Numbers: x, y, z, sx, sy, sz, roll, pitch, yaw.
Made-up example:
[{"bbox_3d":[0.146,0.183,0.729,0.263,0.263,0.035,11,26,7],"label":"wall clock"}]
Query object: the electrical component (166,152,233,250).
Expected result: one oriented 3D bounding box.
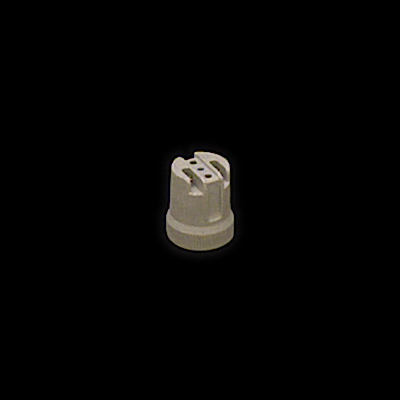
[{"bbox_3d":[0.000,0.000,0.637,0.040,0.046,0.040,0,32,0],"label":"electrical component"}]
